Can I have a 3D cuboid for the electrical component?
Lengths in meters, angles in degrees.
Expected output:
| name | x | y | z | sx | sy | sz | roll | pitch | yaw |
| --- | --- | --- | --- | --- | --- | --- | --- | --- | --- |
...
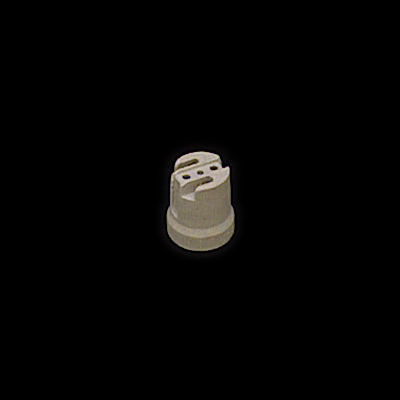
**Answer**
| name | x | y | z | sx | sy | sz | roll | pitch | yaw |
| --- | --- | --- | --- | --- | --- | --- | --- | --- | --- |
| electrical component | 0.000 | 0.000 | 0.636 | 0.040 | 0.046 | 0.040 | 1 | 42 | 0 |
